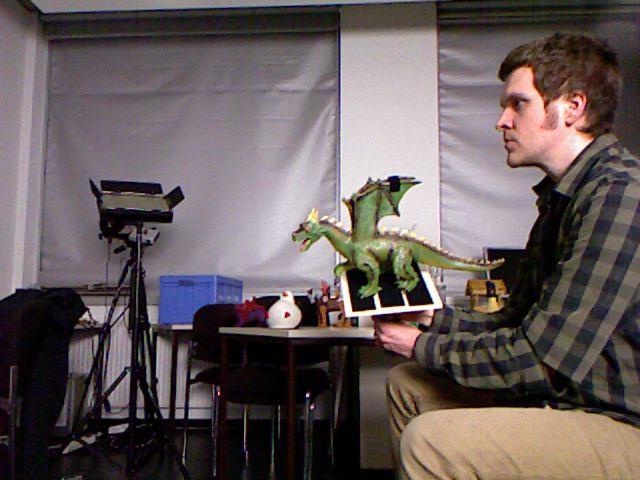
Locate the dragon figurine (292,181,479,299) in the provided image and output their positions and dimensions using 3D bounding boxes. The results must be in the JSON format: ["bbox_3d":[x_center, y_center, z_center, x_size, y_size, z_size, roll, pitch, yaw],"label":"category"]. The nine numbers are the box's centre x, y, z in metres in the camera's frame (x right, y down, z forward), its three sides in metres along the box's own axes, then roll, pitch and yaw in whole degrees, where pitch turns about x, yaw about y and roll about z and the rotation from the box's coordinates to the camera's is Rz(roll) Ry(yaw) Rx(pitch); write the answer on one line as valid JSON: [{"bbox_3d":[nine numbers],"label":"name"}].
[{"bbox_3d":[0.145,-0.011,1.105,0.412,0.238,0.125,-8,30,-5],"label":"dragon figurine"}]
